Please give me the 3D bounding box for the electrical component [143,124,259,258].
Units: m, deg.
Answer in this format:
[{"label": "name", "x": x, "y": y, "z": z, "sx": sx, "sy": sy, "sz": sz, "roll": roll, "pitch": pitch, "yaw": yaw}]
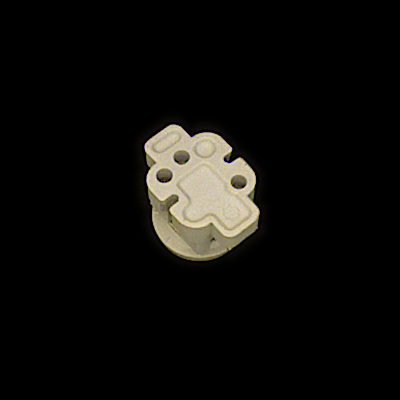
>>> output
[{"label": "electrical component", "x": 0.000, "y": 0.000, "z": 0.635, "sx": 0.058, "sy": 0.078, "sz": 0.056, "roll": -38, "pitch": -19, "yaw": -18}]
